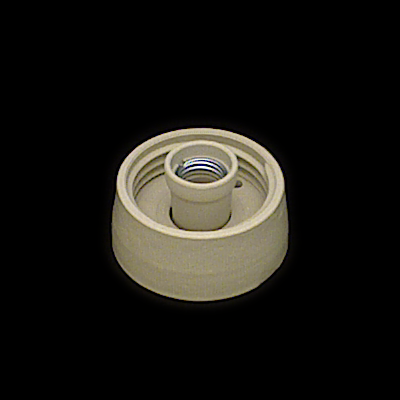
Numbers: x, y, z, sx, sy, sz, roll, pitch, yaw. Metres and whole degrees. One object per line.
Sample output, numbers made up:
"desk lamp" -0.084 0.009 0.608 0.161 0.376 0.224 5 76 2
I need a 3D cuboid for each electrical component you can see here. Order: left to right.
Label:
"electrical component" 0.000 0.000 0.637 0.108 0.061 0.107 1 42 0
